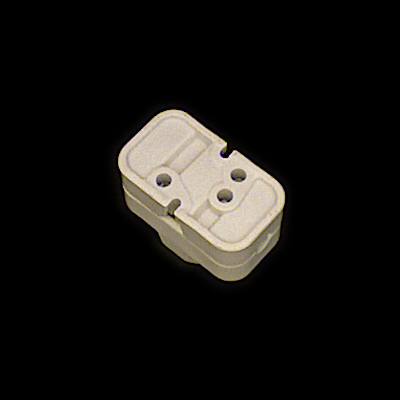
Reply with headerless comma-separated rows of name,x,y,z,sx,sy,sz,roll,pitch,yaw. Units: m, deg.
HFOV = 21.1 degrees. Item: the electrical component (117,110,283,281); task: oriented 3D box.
electrical component,0.000,0.000,0.636,0.094,0.054,0.059,37,-21,17
